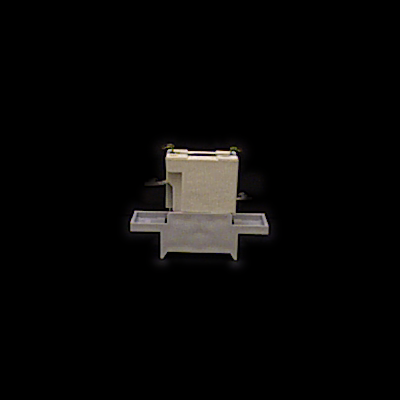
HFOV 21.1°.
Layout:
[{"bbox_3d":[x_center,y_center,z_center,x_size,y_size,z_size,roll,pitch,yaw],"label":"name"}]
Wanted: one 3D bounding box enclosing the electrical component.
[{"bbox_3d":[0.000,0.000,0.645,0.081,0.064,0.042,1,11,-1],"label":"electrical component"}]
